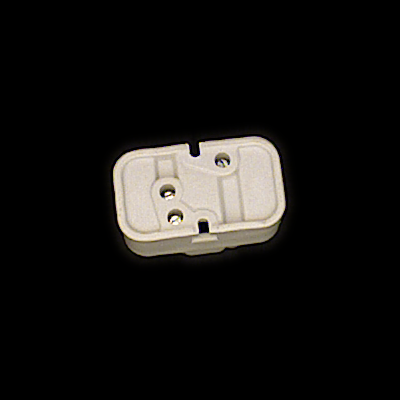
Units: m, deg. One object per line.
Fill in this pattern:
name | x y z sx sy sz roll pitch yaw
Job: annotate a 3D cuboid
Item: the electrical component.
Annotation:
electrical component | 0.000 0.000 0.635 0.095 0.054 0.059 -7 -16 -2
